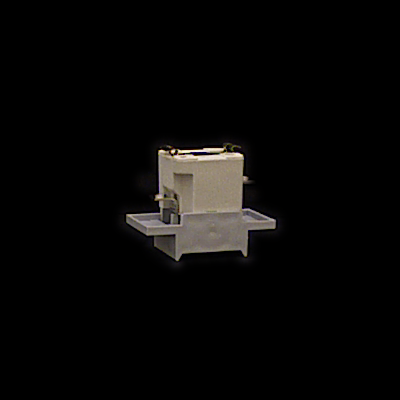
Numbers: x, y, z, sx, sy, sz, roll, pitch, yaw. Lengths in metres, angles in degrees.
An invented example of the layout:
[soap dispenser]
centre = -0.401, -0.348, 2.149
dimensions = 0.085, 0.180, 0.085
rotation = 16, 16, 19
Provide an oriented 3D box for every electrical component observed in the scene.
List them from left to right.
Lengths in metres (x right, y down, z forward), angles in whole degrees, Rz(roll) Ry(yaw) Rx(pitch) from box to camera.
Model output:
[electrical component]
centre = 0.000, 0.000, 0.643
dimensions = 0.081, 0.064, 0.042
rotation = -3, 12, -21
